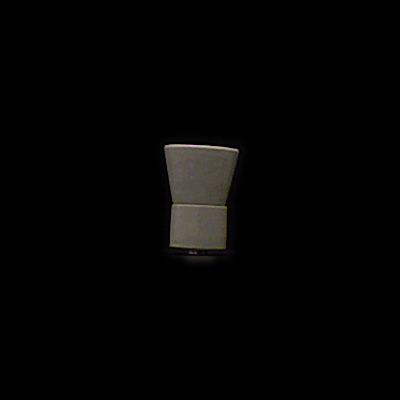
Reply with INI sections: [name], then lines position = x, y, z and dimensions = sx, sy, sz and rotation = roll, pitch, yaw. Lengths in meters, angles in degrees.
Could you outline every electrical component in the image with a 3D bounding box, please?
[electrical component]
position = 0.000, 0.000, 0.651
dimensions = 0.044, 0.065, 0.044
rotation = 2, 0, 0
